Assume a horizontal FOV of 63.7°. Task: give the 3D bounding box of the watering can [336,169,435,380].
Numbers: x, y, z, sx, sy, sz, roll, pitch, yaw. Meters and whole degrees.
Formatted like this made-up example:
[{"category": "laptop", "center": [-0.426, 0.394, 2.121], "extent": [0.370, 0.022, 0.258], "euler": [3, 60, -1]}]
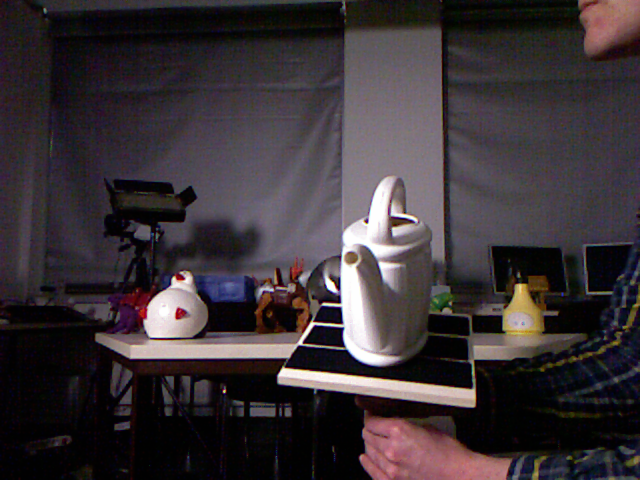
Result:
[{"category": "watering can", "center": [0.065, 0.047, 0.551], "extent": [0.105, 0.223, 0.355], "euler": [5, 18, 16]}]
